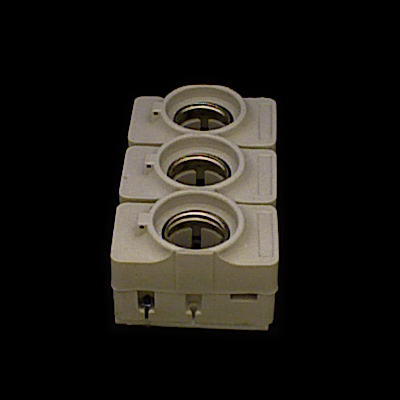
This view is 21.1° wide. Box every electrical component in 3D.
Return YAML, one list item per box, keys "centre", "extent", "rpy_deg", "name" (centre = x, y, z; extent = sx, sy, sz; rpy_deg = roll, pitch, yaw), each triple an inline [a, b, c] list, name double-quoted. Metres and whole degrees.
- centre: [0.000, 0.000, 0.636]
  extent: [0.089, 0.063, 0.147]
  rpy_deg: [1, 41, 2]
  name: "electrical component"
